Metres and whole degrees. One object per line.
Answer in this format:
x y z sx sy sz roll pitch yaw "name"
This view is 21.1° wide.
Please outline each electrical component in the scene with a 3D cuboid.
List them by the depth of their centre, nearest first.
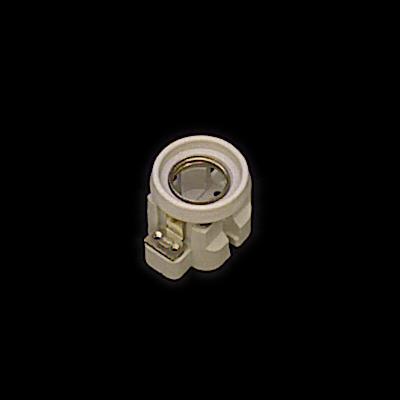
0.000 0.000 0.628 0.057 0.078 0.057 32 -31 21 "electrical component"
